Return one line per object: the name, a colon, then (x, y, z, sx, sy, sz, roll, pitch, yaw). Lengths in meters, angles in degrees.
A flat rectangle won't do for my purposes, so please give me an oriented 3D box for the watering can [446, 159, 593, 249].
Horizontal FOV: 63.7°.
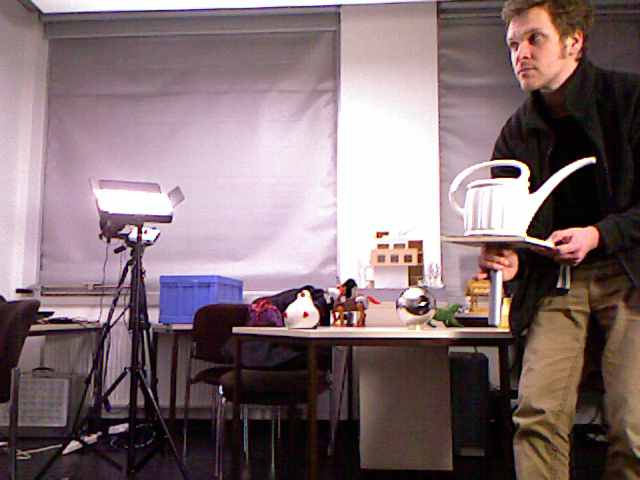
watering can: (0.474, -0.089, 1.260, 0.348, 0.225, 0.104, 0, 1, 37)
